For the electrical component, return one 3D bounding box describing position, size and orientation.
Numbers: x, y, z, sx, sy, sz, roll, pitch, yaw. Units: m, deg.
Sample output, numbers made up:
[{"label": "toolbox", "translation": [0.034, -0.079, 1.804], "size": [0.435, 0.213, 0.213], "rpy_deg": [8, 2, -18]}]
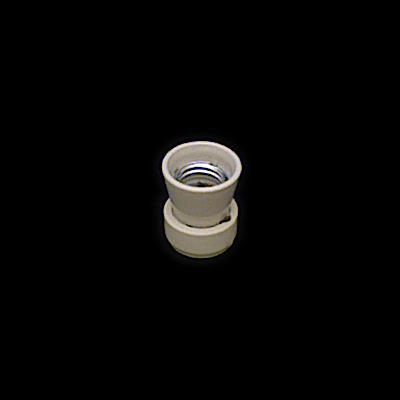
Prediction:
[{"label": "electrical component", "translation": [0.000, 0.000, 0.633], "size": [0.045, 0.056, 0.044], "rpy_deg": [1, 42, -1]}]
